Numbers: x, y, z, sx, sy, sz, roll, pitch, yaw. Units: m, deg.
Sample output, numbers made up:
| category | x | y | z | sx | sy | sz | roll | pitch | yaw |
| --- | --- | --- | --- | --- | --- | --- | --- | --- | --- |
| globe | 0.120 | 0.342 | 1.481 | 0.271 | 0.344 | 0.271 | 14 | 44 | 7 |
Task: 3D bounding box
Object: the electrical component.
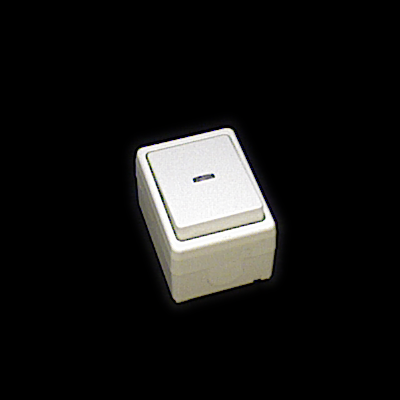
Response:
| category | x | y | z | sx | sy | sz | roll | pitch | yaw |
| --- | --- | --- | --- | --- | --- | --- | --- | --- | --- |
| electrical component | 0.000 | 0.000 | 0.629 | 0.062 | 0.096 | 0.061 | -14 | -36 | -11 |
